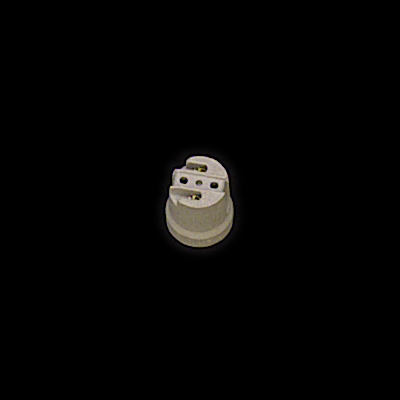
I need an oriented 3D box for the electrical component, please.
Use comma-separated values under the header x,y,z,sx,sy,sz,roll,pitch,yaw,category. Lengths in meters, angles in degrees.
x,y,z,sx,sy,sz,roll,pitch,yaw,category
0.000,0.000,0.633,0.040,0.040,0.046,0,-27,-1,electrical component
